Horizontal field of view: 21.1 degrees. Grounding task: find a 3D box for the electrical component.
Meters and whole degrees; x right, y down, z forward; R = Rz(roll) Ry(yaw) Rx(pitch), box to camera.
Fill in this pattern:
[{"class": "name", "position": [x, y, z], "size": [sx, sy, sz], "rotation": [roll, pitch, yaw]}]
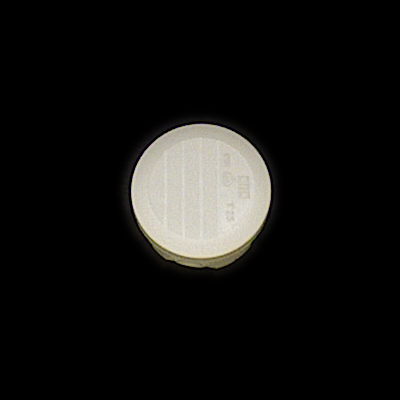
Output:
[{"class": "electrical component", "position": [0.000, 0.000, 0.629], "size": [0.080, 0.080, 0.050], "rotation": [0, -17, 0]}]
